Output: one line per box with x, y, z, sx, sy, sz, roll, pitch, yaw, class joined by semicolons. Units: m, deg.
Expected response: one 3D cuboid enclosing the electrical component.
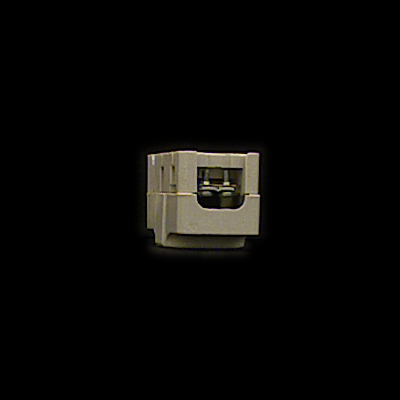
0.000;0.000;0.656;0.050;0.056;0.089;0;1;-16;electrical component
